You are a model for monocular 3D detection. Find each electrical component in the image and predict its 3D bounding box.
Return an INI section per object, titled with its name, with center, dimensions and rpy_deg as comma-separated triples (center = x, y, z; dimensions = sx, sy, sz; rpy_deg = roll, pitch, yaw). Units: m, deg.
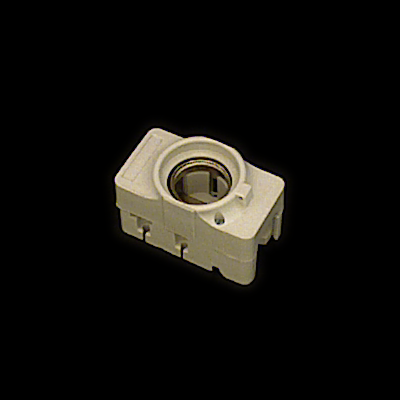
[electrical component]
center = 0.000, 0.000, 0.637
dimensions = 0.089, 0.050, 0.056
rpy_deg = 22, -34, 16
